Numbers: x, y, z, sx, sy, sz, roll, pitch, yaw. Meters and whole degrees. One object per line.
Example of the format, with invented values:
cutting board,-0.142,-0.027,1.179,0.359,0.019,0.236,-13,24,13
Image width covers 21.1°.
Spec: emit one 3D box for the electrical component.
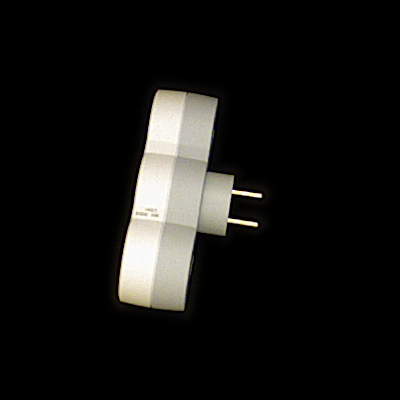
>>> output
electrical component,0.000,0.000,0.637,0.074,0.138,0.052,8,-26,2
